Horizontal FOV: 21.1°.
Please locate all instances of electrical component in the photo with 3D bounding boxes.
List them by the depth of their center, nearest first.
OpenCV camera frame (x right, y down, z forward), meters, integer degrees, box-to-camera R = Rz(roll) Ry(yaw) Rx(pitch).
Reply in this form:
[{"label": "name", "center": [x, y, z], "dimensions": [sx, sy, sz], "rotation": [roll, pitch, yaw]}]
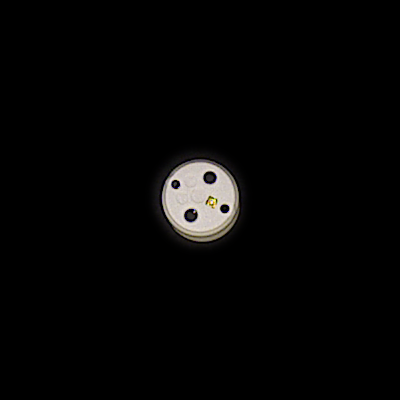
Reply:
[{"label": "electrical component", "center": [0.000, 0.000, 0.629], "dimensions": [0.045, 0.045, 0.055], "rotation": [0, -6, 1]}]
